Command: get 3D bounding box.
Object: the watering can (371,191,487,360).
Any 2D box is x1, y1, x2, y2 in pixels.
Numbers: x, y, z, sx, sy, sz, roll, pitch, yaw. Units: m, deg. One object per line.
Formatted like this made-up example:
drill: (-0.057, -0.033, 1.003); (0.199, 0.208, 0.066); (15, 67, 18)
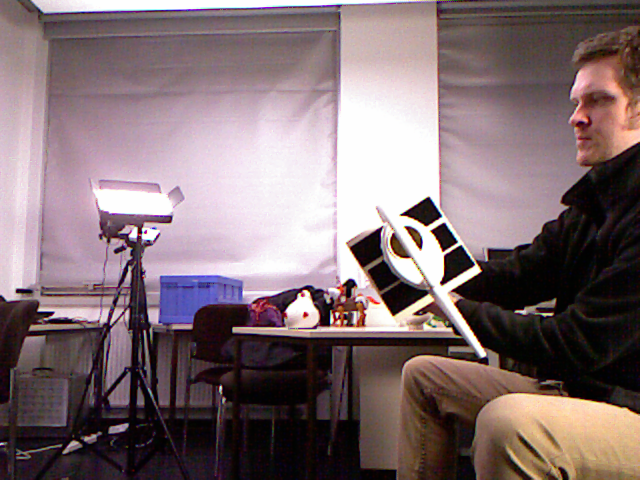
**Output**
watering can: (0.195, 0.057, 0.991); (0.104, 0.349, 0.225); (-32, -1, 6)
